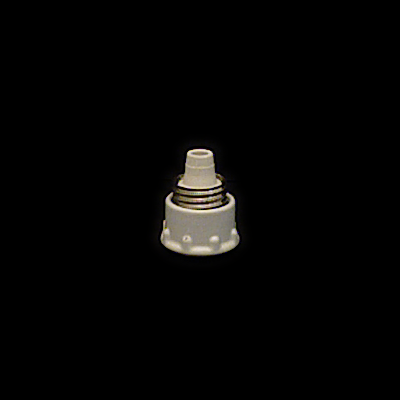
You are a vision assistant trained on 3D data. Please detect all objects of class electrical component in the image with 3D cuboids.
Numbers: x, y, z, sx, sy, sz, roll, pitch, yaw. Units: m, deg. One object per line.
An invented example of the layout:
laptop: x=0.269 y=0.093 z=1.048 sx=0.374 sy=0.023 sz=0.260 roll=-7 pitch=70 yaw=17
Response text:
electrical component: x=0.000 y=0.000 z=0.646 sx=0.048 sy=0.063 sz=0.047 roll=1 pitch=21 yaw=0
